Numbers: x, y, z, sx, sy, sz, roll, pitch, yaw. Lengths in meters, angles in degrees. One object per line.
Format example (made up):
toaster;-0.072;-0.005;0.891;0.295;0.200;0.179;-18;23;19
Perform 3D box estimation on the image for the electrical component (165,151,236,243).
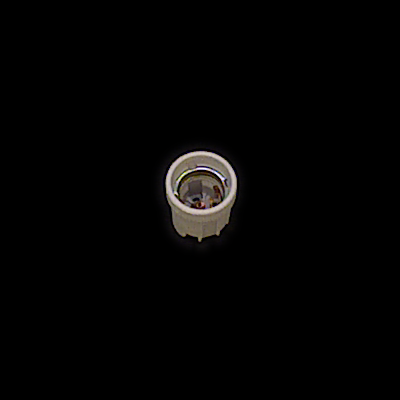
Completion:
electrical component;0.000;0.000;0.627;0.040;0.040;0.046;0;-27;0
